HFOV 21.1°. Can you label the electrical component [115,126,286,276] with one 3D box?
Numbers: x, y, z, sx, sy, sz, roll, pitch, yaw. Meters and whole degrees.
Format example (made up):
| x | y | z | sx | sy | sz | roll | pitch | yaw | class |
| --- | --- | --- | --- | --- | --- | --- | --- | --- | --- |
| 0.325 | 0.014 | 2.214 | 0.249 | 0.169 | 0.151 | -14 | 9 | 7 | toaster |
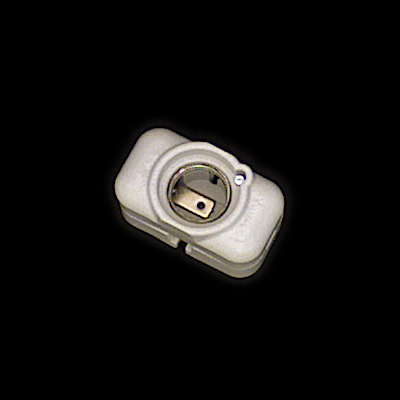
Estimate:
| x | y | z | sx | sy | sz | roll | pitch | yaw | class |
| --- | --- | --- | --- | --- | --- | --- | --- | --- | --- |
| 0.000 | 0.000 | 0.634 | 0.095 | 0.054 | 0.059 | 26 | -14 | 7 | electrical component |
